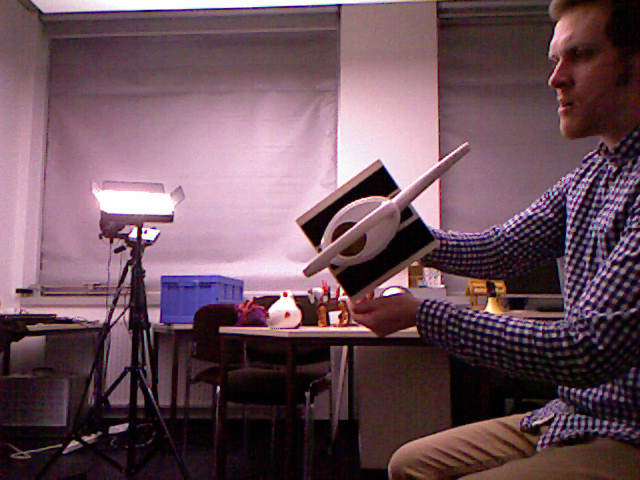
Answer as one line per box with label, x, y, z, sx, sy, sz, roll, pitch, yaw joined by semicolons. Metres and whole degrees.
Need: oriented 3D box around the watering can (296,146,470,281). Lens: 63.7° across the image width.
watering can;0.105;-0.043;0.906;0.348;0.104;0.226;-37;2;7
